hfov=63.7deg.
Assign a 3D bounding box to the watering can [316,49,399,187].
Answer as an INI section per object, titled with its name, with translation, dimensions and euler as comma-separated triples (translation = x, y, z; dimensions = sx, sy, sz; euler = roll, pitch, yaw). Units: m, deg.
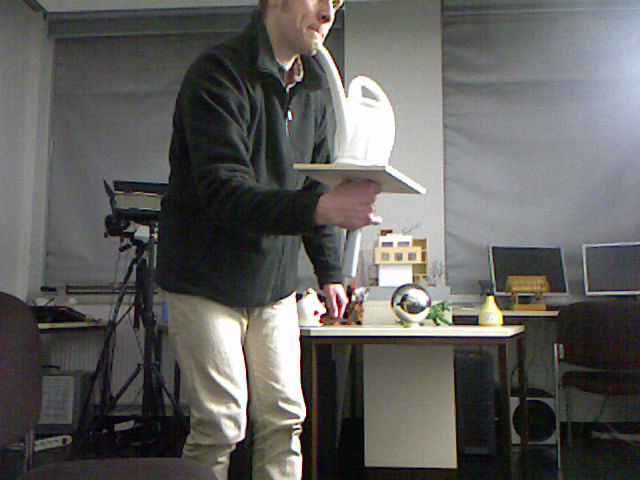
[watering can]
translation = 0.069, -0.221, 1.036
dimensions = 0.104, 0.226, 0.346
euler = 9, -4, 34
